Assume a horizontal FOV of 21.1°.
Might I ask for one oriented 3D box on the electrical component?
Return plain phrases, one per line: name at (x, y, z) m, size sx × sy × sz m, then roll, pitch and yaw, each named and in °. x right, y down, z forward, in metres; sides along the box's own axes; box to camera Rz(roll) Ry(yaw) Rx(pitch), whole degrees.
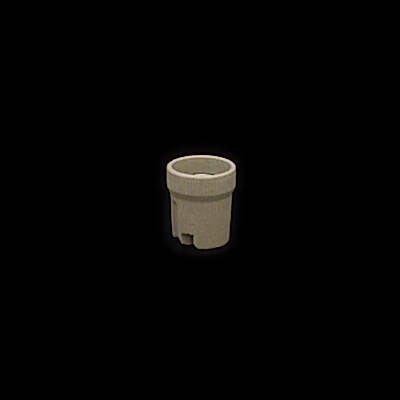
electrical component at (0.000, 0.000, 0.639) m, size 0.040 × 0.047 × 0.039 m, roll 1°, pitch 21°, yaw 0°
